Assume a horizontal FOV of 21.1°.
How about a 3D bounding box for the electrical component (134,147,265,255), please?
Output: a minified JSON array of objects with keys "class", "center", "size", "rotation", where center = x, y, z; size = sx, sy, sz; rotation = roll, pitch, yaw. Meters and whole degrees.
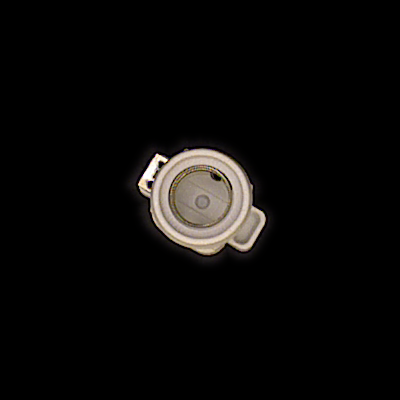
[{"class":"electrical component","center":[0.000,0.000,0.630],"size":[0.078,0.058,0.056],"rotation":[30,-5,3]}]
